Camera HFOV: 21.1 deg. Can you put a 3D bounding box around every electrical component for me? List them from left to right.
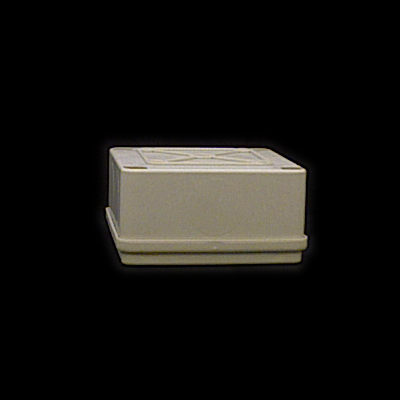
[{"bbox_3d":[0.000,0.000,0.647,0.109,0.056,0.107,0,10,-9],"label":"electrical component"}]
